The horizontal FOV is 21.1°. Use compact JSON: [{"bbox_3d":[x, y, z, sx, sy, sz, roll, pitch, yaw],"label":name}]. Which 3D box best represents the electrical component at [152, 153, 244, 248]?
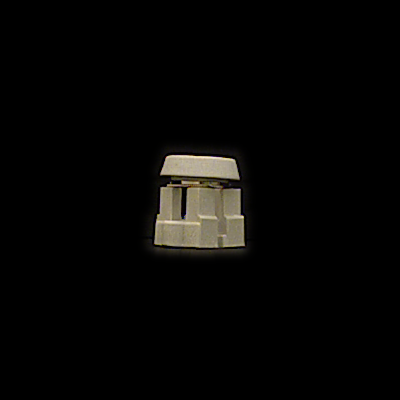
[{"bbox_3d":[0.000,0.000,0.658,0.048,0.055,0.067,5,4,40],"label":"electrical component"}]
